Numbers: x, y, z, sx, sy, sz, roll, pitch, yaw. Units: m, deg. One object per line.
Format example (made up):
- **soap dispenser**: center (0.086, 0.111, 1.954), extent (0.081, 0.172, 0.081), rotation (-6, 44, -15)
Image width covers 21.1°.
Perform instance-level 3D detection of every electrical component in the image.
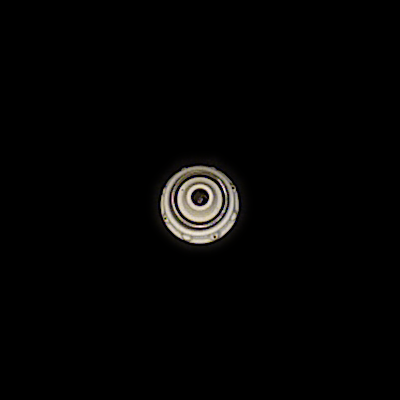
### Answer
- **electrical component**: center (0.000, 0.000, 0.635), extent (0.048, 0.048, 0.062), rotation (0, -5, 0)
